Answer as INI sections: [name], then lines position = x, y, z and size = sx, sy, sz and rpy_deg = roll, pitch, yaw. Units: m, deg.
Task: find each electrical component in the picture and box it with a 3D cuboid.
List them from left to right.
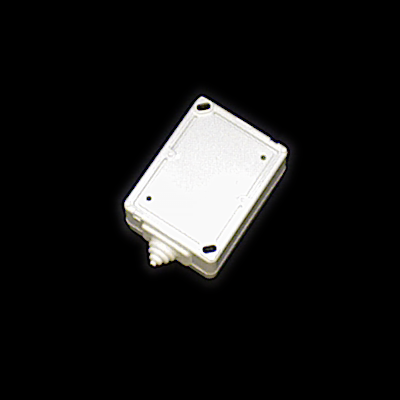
[electrical component]
position = 0.000, 0.000, 0.623
size = 0.062, 0.097, 0.060
rpy_deg = 32, -15, 8
